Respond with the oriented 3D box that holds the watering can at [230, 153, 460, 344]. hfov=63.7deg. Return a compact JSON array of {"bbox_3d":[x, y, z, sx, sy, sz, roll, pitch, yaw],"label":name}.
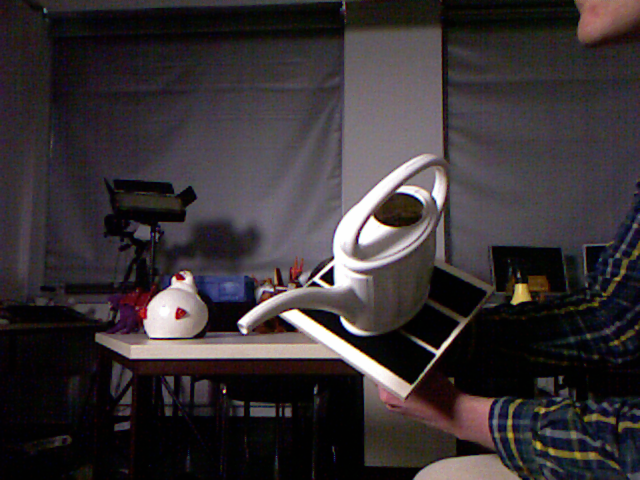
[{"bbox_3d":[0.049,0.038,0.591,0.106,0.221,0.355,32,56,32],"label":"watering can"}]
